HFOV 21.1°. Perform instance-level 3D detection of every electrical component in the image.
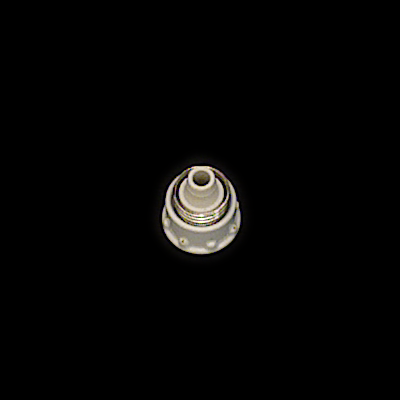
[{"bbox_3d":[0.000,0.000,0.633,0.048,0.048,0.062,0,-26,0],"label":"electrical component"}]
